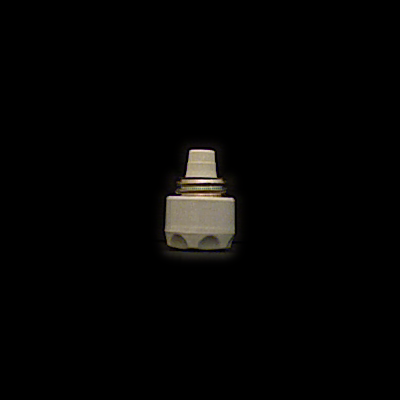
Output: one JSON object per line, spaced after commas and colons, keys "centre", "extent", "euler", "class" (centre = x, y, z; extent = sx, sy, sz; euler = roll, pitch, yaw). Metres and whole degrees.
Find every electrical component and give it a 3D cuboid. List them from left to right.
{"centre": [0.000, 0.000, 0.657], "extent": [0.043, 0.062, 0.043], "euler": [2, 1, 0], "class": "electrical component"}
